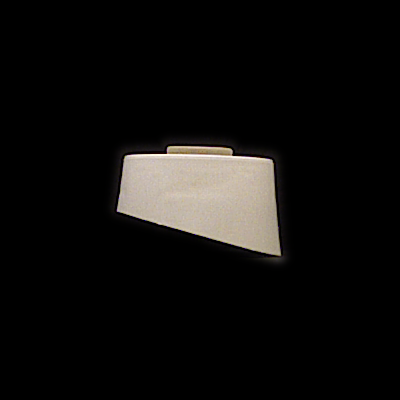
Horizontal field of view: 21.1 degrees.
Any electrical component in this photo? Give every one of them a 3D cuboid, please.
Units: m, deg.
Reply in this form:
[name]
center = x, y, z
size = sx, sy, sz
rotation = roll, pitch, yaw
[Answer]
[electrical component]
center = 0.000, 0.000, 0.648
size = 0.099, 0.064, 0.099
rotation = 2, 0, 0
